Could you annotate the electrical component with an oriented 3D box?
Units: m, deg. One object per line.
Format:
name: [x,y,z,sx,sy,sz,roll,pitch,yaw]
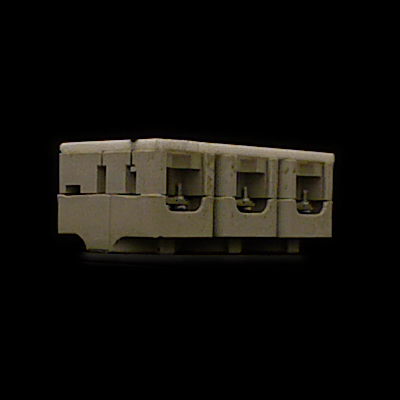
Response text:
electrical component: [0.000,0.000,0.653,0.150,0.062,0.089,2,-1,-43]
